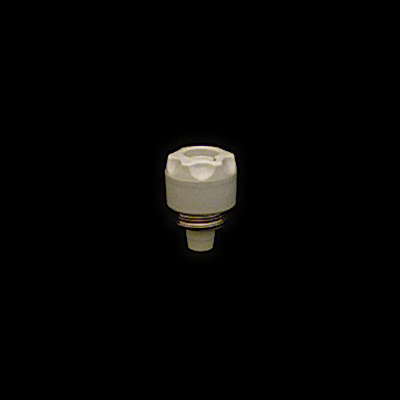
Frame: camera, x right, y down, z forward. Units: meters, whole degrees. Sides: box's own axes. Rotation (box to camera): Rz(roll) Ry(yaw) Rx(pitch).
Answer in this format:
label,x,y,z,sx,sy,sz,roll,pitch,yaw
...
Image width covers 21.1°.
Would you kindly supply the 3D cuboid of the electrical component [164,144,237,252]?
label,x,y,z,sx,sy,sz,roll,pitch,yaw
electrical component,0.000,0.000,0.646,0.043,0.063,0.043,0,22,0
